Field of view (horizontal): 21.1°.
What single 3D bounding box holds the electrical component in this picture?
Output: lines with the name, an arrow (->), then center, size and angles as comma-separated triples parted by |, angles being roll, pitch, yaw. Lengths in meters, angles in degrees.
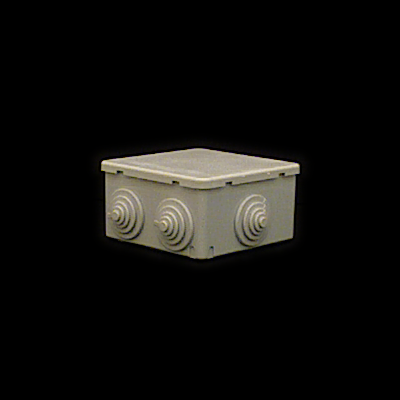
electrical component -> 0.000, 0.000, 0.651 | 0.098, 0.049, 0.100 | 12, 15, 42
